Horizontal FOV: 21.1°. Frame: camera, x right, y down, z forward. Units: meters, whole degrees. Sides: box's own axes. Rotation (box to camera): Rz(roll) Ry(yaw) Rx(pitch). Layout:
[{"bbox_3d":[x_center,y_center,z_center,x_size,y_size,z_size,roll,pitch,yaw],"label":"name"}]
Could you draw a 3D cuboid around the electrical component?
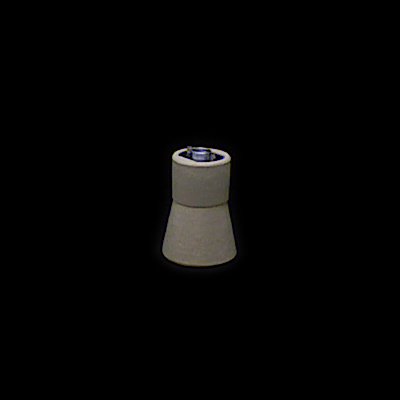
[{"bbox_3d":[0.000,0.000,0.639,0.044,0.066,0.044,1,20,0],"label":"electrical component"}]
